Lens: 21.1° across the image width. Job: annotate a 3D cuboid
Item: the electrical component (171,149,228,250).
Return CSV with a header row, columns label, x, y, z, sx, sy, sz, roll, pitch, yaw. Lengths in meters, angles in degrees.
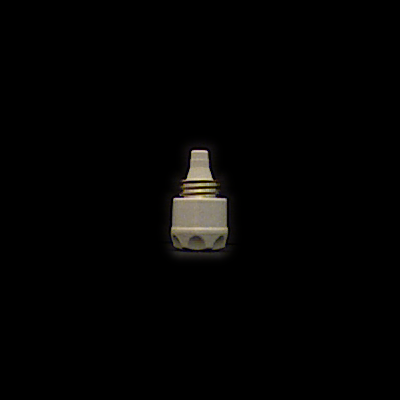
label,x,y,z,sx,sy,sz,roll,pitch,yaw
electrical component,0.000,0.000,0.661,0.035,0.061,0.035,0,1,0
